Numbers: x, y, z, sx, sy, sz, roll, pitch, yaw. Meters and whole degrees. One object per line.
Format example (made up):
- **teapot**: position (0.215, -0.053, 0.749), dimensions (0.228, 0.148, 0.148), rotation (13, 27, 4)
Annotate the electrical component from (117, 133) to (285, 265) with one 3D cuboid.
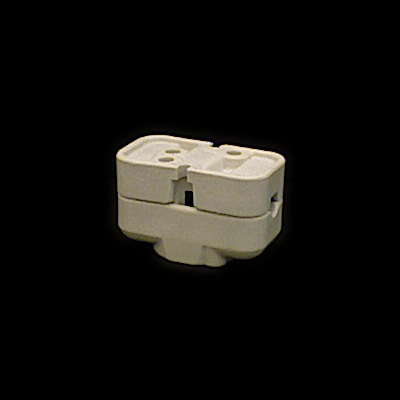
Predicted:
- **electrical component**: position (0.000, 0.000, 0.643), dimensions (0.094, 0.060, 0.053), rotation (10, 24, 20)
